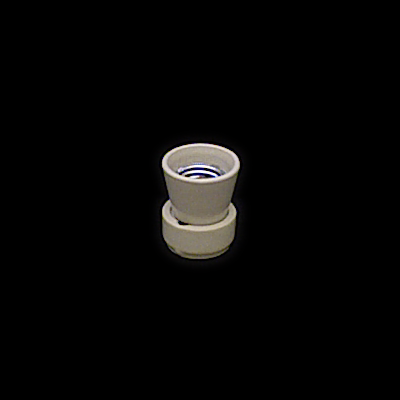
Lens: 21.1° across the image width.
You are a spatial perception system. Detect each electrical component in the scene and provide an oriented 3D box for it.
[{"bbox_3d":[0.000,0.000,0.636,0.045,0.056,0.044,1,32,-1],"label":"electrical component"}]
